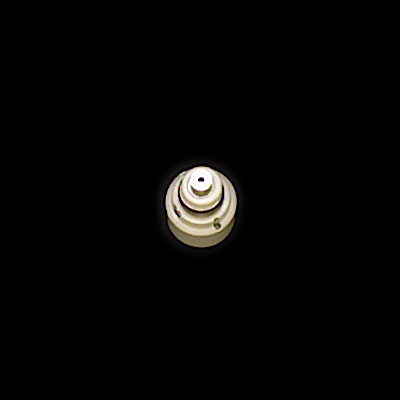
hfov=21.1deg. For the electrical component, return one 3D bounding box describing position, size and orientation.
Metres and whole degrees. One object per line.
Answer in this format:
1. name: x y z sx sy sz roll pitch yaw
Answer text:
1. electrical component: 0.000 0.000 0.618 0.040 0.040 0.078 0 -16 0
